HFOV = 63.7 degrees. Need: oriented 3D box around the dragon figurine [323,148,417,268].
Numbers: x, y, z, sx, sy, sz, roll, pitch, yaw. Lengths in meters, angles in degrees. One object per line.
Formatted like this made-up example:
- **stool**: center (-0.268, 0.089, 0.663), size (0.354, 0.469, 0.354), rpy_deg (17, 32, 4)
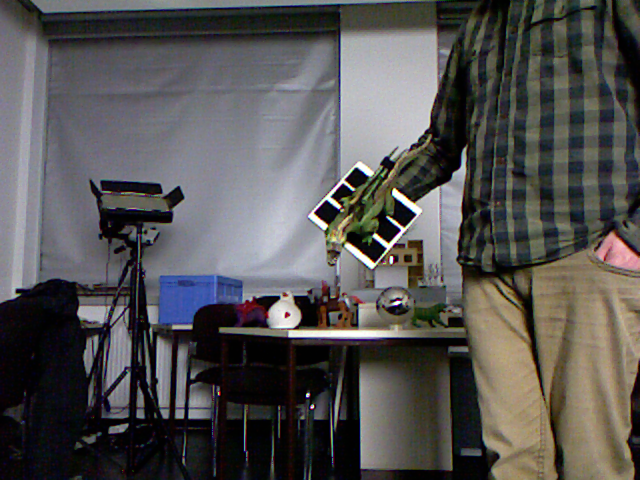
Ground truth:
- **dragon figurine**: center (0.124, -0.106, 1.154), size (0.123, 0.416, 0.240), rpy_deg (35, -16, 4)
